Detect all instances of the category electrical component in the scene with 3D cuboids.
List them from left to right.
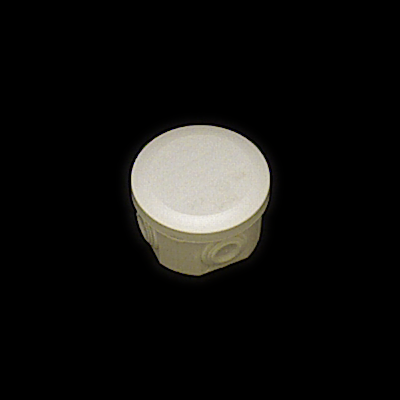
[{"bbox_3d":[0.000,0.000,0.630,0.080,0.080,0.051,0,-38,0],"label":"electrical component"}]
